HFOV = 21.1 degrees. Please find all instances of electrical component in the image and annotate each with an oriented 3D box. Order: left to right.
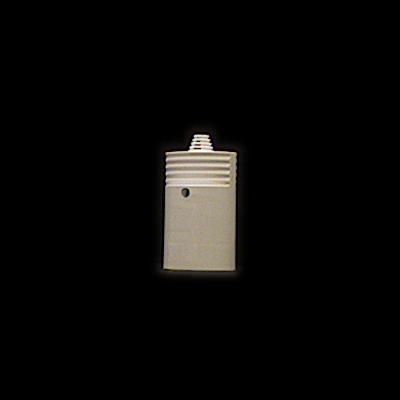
[{"bbox_3d":[0.000,0.000,0.650,0.043,0.081,0.043,1,1,0],"label":"electrical component"}]
